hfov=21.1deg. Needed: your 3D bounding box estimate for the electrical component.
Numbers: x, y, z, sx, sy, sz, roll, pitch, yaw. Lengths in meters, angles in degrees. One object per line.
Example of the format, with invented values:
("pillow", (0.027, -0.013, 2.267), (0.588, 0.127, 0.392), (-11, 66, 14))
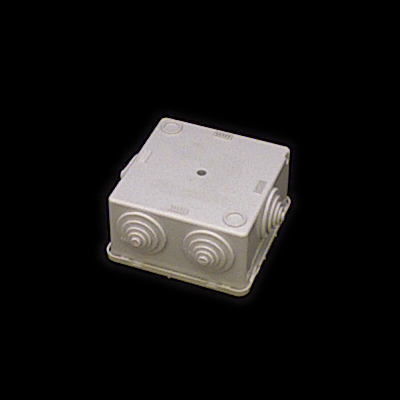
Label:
("electrical component", (0.000, 0.000, 0.634), (0.099, 0.049, 0.099), (15, 44, 15))
